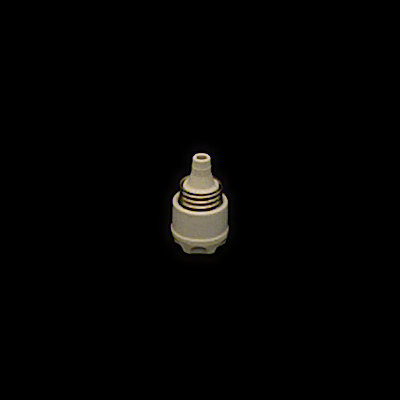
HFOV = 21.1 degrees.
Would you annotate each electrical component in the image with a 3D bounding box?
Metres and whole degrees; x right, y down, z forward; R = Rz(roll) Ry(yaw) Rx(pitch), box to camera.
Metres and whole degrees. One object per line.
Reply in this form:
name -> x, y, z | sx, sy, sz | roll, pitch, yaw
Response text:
electrical component -> 0.000, 0.000, 0.647 | 0.035, 0.062, 0.034 | 2, 32, -1
